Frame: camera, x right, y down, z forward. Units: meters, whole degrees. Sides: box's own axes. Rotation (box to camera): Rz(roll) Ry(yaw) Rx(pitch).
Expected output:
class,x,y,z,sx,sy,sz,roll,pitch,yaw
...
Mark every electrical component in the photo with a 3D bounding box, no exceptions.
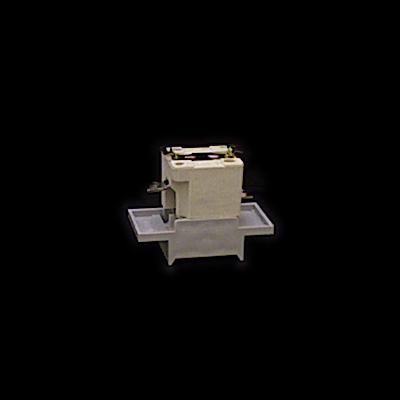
class,x,y,z,sx,sy,sz,roll,pitch,yaw
electrical component,0.000,0.000,0.639,0.081,0.064,0.041,-4,22,-12
